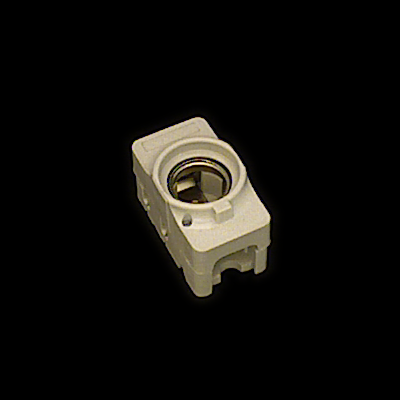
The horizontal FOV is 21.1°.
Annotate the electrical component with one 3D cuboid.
[{"bbox_3d":[0.000,0.000,0.637,0.050,0.089,0.056,-23,-34,-16],"label":"electrical component"}]
